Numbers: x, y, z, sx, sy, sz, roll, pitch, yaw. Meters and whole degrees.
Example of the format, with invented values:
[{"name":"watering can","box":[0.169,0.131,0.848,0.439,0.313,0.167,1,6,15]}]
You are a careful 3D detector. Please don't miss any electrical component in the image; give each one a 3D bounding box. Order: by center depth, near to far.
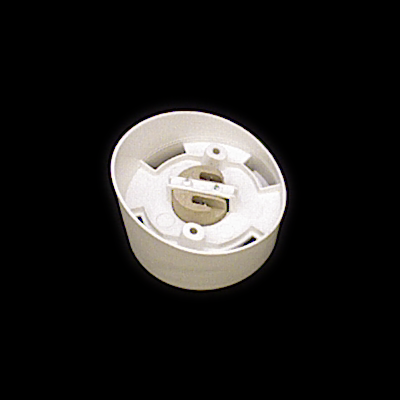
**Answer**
[{"name":"electrical component","box":[0.000,0.000,0.625,0.099,0.098,0.064,0,-37,0]}]
